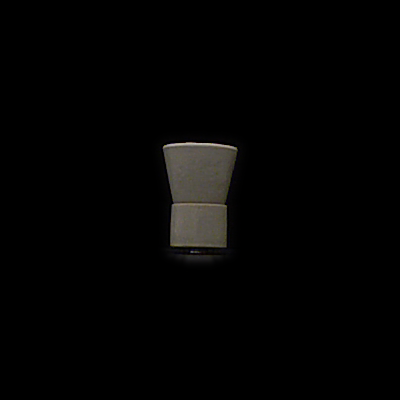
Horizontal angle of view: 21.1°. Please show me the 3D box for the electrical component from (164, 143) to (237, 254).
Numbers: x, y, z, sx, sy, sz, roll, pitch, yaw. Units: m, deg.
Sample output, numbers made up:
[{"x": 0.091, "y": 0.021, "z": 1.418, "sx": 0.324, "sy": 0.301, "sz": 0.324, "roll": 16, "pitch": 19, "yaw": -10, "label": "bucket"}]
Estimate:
[{"x": 0.000, "y": 0.000, "z": 0.652, "sx": 0.044, "sy": 0.065, "sz": 0.044, "roll": 1, "pitch": 0, "yaw": 0, "label": "electrical component"}]
